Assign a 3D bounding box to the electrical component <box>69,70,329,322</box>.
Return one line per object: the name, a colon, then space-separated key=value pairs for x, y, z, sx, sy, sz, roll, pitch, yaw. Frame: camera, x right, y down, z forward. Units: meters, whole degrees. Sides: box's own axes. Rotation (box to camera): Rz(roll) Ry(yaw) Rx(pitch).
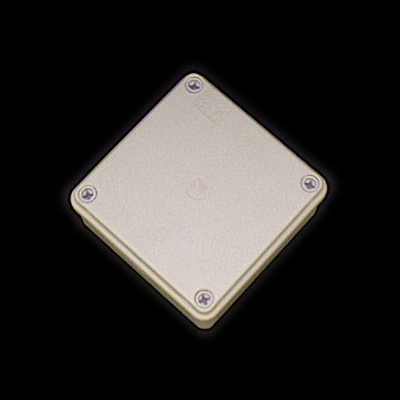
electrical component: x=0.000 y=0.000 z=0.629 sx=0.109 sy=0.109 sz=0.056 roll=41 pitch=-12 yaw=11
